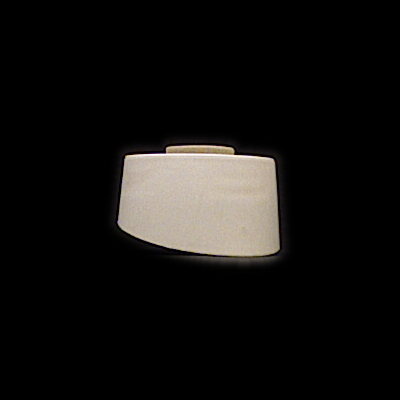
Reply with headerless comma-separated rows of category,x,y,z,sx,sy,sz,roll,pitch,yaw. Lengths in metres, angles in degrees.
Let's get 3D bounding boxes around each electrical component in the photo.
electrical component,0.000,0.000,0.650,0.099,0.064,0.099,1,0,0
